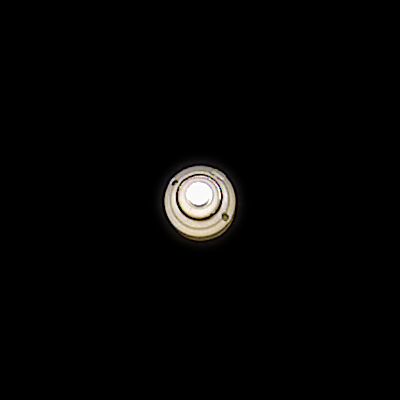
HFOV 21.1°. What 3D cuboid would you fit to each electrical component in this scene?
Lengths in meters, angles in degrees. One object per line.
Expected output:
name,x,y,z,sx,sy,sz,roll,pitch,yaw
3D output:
electrical component,0.000,0.000,0.618,0.040,0.040,0.078,0,-6,1
